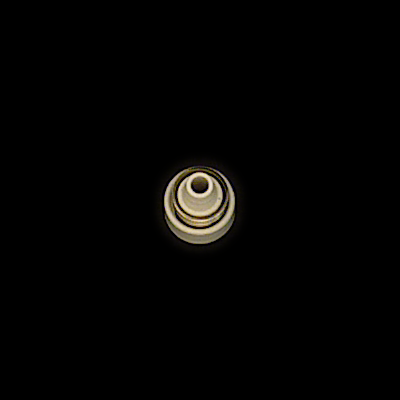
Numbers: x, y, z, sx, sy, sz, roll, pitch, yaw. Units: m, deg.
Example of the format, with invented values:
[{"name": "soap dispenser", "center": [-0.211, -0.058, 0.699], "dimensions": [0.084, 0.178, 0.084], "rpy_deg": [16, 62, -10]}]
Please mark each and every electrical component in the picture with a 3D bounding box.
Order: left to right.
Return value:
[{"name": "electrical component", "center": [0.000, 0.000, 0.634], "dimensions": [0.043, 0.043, 0.061], "rpy_deg": [0, -17, -1]}]
